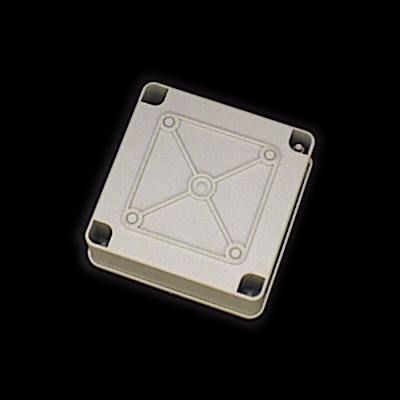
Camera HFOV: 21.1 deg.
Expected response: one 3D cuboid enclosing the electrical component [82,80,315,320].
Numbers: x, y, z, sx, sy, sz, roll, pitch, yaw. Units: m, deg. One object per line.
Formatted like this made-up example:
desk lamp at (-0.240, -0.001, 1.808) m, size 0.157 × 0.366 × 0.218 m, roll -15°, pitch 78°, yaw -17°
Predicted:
electrical component at (0.000, 0.000, 0.629) m, size 0.109 × 0.109 × 0.056 m, roll 19°, pitch -17°, yaw 5°
